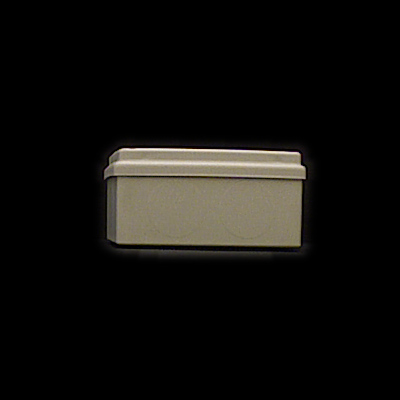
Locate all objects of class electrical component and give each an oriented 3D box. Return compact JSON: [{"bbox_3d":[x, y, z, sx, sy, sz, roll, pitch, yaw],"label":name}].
[{"bbox_3d":[0.000,0.000,0.648,0.109,0.056,0.108,1,0,-9],"label":"electrical component"}]
